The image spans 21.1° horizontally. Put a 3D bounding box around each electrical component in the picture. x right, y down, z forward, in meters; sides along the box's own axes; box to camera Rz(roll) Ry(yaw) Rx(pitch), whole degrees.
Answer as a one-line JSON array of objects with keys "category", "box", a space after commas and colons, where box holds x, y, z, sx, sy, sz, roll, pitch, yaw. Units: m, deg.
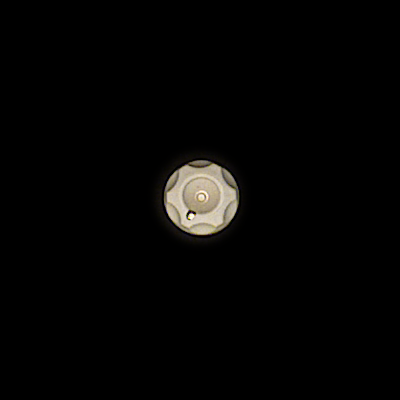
[{"category": "electrical component", "box": [0.000, 0.000, 0.635, 0.043, 0.043, 0.062, 0, -6, 1]}]
